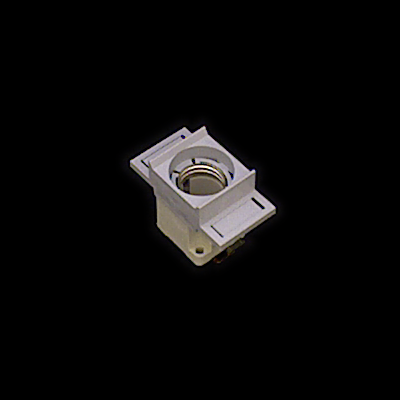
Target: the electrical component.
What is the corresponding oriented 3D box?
[{"bbox_3d":[0.000,0.000,0.625,0.042,0.064,0.080,-33,59,-24],"label":"electrical component"}]
